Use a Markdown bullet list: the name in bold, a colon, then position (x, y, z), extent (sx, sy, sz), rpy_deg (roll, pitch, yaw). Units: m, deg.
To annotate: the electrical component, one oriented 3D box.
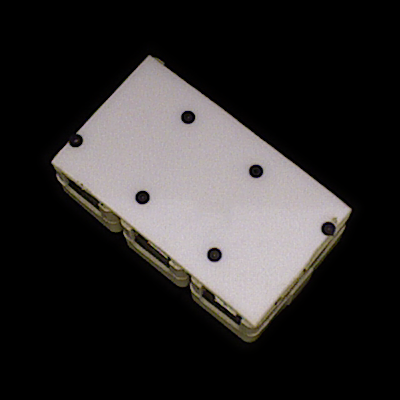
- **electrical component**: position (0.000, 0.000, 0.630), extent (0.150, 0.089, 0.062), rpy_deg (39, -13, 11)
